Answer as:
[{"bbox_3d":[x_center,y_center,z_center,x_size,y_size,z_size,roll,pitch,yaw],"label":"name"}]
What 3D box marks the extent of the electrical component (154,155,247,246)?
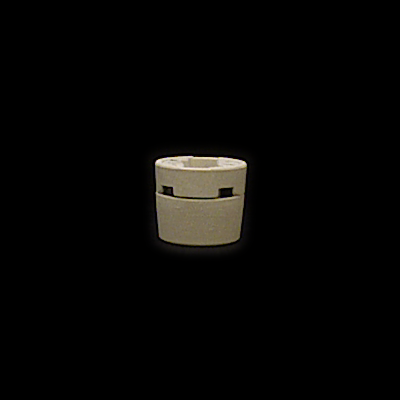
[{"bbox_3d":[0.000,0.000,0.647,0.055,0.047,0.055,1,11,0],"label":"electrical component"}]
